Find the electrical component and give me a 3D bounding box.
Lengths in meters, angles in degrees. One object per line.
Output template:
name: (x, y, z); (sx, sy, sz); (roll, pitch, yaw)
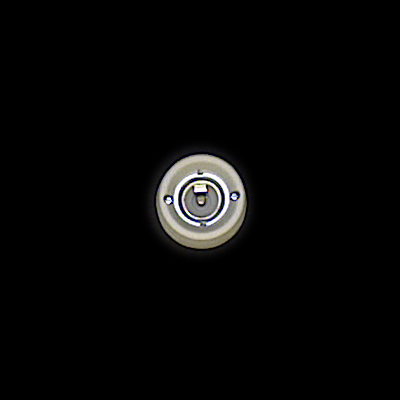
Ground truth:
electrical component: (0.000, 0.000, 0.634); (0.055, 0.055, 0.047); (0, -6, -1)
